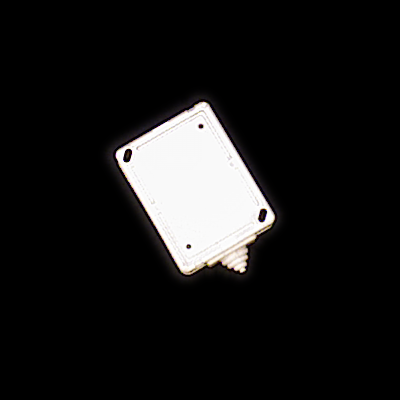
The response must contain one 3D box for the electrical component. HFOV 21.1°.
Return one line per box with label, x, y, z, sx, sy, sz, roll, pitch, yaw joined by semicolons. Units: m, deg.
electrical component;0.000;0.000;0.629;0.062;0.096;0.061;-30;-5;-3
